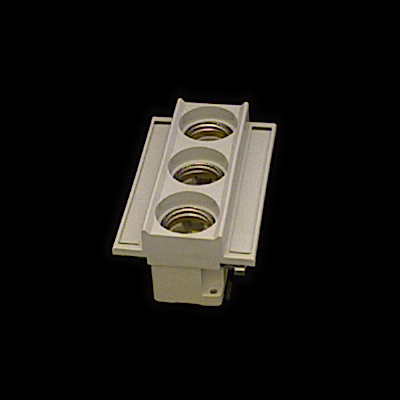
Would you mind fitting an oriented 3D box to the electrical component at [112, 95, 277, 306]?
[{"bbox_3d":[0.000,0.000,0.641,0.078,0.064,0.120,5,43,7],"label":"electrical component"}]
